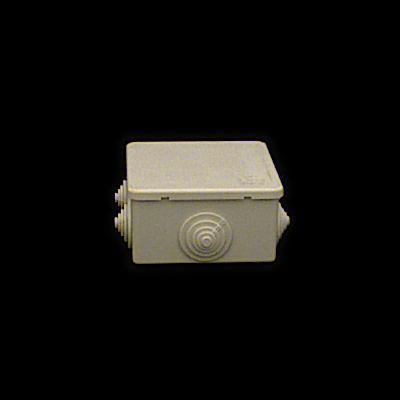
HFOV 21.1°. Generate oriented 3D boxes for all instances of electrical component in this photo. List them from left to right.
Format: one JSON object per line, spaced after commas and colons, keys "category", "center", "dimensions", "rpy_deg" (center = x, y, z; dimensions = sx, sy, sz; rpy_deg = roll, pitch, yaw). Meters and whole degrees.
{"category": "electrical component", "center": [0.000, 0.000, 0.648], "dimensions": [0.100, 0.049, 0.098], "rpy_deg": [-1, 22, -5]}
